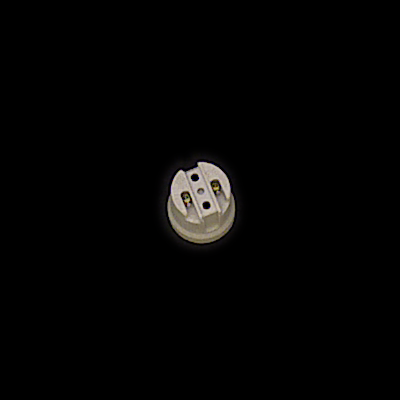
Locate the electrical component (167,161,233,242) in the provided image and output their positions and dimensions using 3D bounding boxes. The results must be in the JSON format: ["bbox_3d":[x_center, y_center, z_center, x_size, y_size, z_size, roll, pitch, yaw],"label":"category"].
[{"bbox_3d":[0.000,0.000,0.633,0.040,0.040,0.046,0,-17,1],"label":"electrical component"}]
